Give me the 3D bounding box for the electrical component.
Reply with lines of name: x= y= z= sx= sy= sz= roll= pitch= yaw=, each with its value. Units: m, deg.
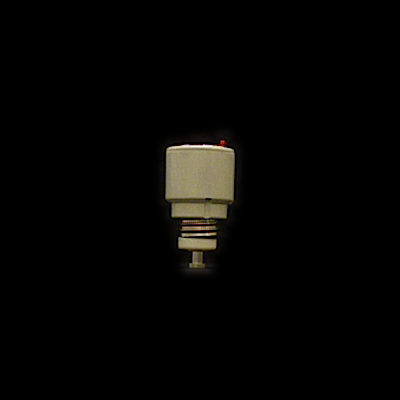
electrical component: x=0.000 y=0.000 z=0.649 sx=0.040 sy=0.078 sz=0.040 roll=2 pitch=1 yaw=0
